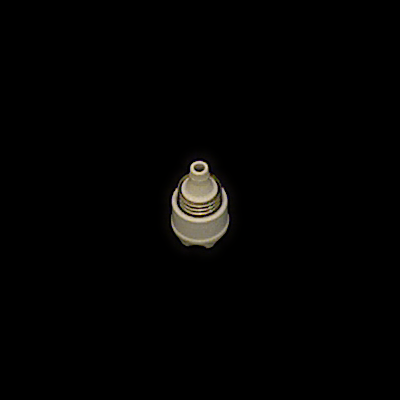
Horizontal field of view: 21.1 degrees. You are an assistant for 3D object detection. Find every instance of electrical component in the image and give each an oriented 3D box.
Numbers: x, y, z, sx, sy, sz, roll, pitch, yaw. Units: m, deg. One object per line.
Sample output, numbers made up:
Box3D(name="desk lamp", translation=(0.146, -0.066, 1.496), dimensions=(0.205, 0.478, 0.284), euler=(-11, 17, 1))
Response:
Box3D(name="electrical component", translation=(0.000, 0.000, 0.639), dimensions=(0.035, 0.035, 0.062), euler=(0, -39, 0))
